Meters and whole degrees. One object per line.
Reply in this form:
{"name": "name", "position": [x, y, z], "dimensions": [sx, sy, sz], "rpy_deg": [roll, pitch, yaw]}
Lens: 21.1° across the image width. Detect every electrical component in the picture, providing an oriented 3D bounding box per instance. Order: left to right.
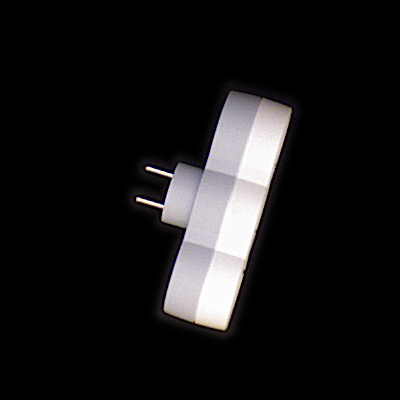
{"name": "electrical component", "position": [0.000, 0.000, 0.631], "dimensions": [0.074, 0.138, 0.052], "rpy_deg": [16, -6, 4]}
